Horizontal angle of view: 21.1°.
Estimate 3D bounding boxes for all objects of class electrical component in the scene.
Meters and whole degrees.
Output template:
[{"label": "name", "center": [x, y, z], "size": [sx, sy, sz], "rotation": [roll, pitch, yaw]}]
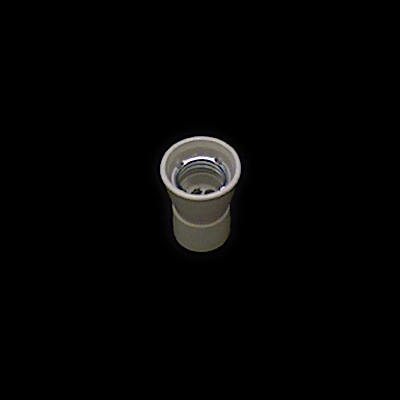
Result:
[{"label": "electrical component", "center": [0.000, 0.000, 0.625], "size": [0.044, 0.044, 0.065], "rotation": [0, -36, 0]}]
